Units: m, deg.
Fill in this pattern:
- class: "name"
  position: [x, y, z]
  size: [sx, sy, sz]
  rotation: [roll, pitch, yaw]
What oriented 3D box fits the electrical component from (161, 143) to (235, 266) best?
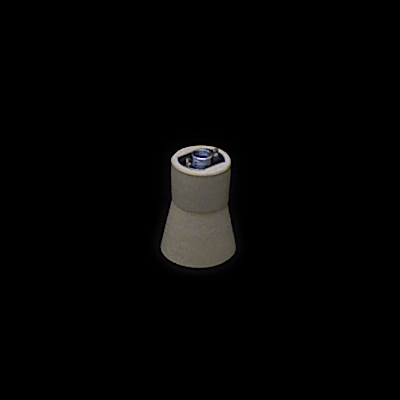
- class: "electrical component"
  position: [0.000, 0.000, 0.631]
  size: [0.044, 0.066, 0.044]
  rotation: [1, 32, -1]
